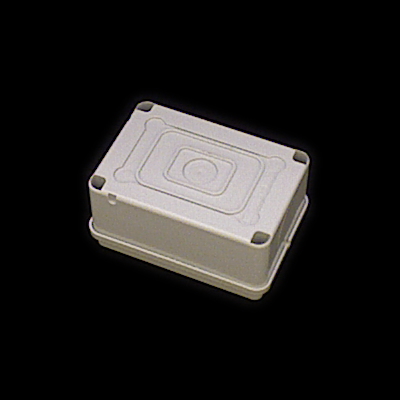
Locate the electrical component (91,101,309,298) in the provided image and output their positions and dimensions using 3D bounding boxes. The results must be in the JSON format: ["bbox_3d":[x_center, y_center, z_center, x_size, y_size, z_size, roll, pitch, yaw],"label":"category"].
[{"bbox_3d":[0.000,0.000,0.629,0.113,0.078,0.057,19,-36,13],"label":"electrical component"}]
